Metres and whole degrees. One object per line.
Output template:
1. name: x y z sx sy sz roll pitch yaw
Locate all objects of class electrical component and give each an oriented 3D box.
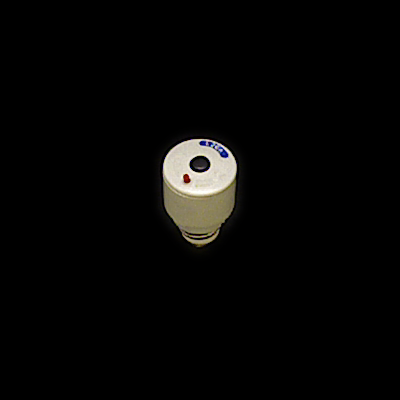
1. electrical component: 0.000 0.000 0.619 0.040 0.040 0.078 0 -37 0
